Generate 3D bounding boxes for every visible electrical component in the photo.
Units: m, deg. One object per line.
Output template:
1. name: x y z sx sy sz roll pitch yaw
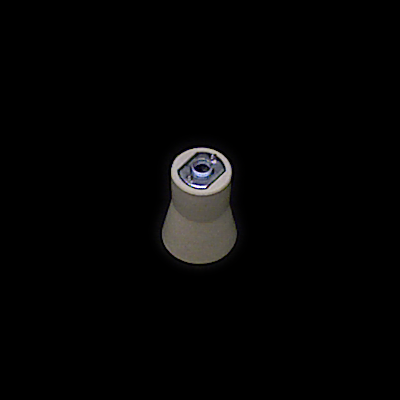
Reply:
1. electrical component: 0.000 0.000 0.625 0.044 0.044 0.065 0 -37 -2
